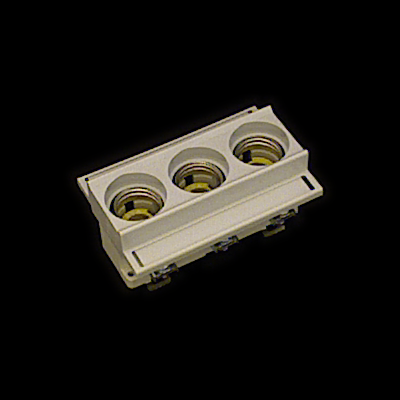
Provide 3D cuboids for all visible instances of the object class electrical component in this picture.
[{"bbox_3d":[0.000,0.000,0.639,0.122,0.078,0.063,-23,-35,-17],"label":"electrical component"}]
